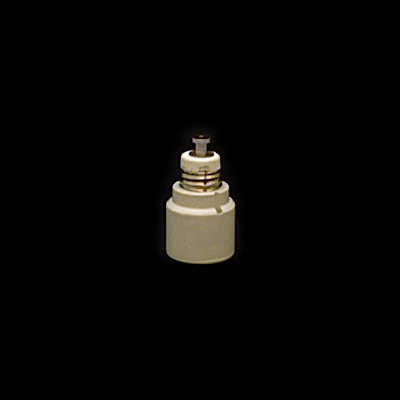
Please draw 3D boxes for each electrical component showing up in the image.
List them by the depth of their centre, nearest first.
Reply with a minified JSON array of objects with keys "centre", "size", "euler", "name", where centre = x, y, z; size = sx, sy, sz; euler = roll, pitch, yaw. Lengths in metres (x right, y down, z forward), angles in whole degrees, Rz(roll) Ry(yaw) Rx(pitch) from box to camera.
[{"centre":[0.000,0.000,0.634],"size":[0.040,0.079,0.039],"euler":[0,21,0],"name":"electrical component"}]
